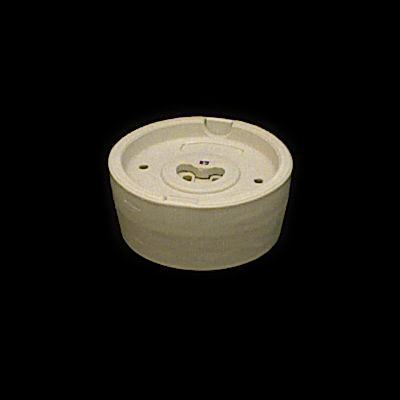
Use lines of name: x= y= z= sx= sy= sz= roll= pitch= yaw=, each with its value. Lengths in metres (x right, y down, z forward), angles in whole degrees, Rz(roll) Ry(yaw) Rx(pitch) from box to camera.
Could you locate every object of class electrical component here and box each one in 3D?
electrical component: x=0.000 y=0.000 z=0.644 sx=0.108 sy=0.061 sz=0.106 roll=1 pitch=32 yaw=0
